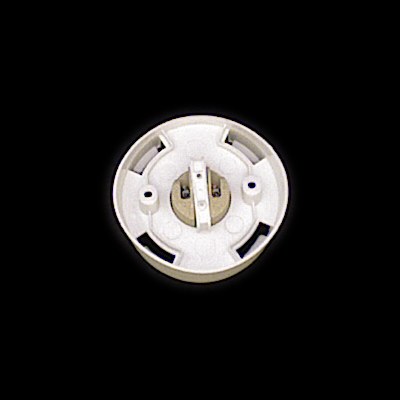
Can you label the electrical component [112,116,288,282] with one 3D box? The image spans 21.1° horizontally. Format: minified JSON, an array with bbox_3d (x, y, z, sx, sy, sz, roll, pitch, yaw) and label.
[{"bbox_3d":[0.000,0.000,0.623,0.099,0.099,0.064,0,-16,0],"label":"electrical component"}]
